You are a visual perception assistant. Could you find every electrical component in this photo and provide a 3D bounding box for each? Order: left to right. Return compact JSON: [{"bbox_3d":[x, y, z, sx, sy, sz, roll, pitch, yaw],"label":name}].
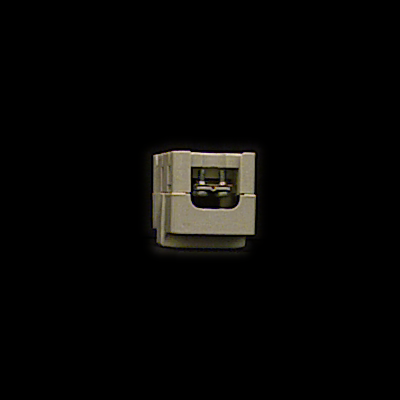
[{"bbox_3d":[0.000,0.000,0.656,0.050,0.056,0.089,0,1,-11],"label":"electrical component"}]
